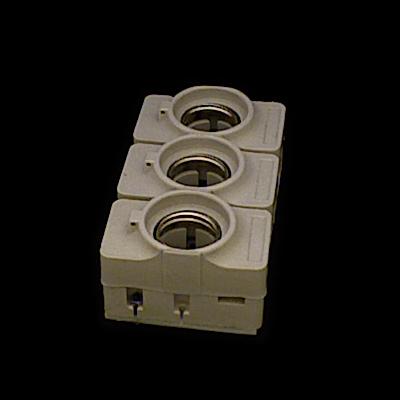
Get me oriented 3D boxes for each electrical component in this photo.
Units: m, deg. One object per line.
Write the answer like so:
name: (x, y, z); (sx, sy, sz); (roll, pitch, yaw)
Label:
electrical component: (0.000, 0.000, 0.636); (0.089, 0.063, 0.147); (5, 41, 5)
